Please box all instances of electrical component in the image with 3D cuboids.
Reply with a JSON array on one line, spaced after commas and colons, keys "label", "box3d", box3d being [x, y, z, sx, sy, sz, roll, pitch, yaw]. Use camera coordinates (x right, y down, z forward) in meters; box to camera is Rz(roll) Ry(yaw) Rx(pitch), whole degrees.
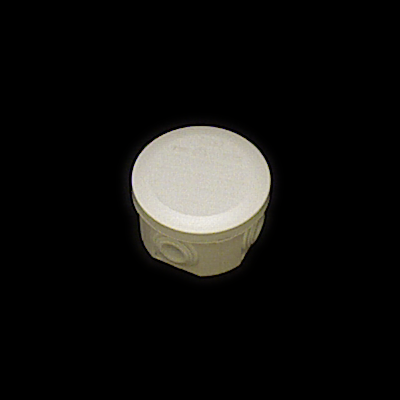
[{"label": "electrical component", "box3d": [0.000, 0.000, 0.631, 0.080, 0.080, 0.051, 0, -38, 0]}]
